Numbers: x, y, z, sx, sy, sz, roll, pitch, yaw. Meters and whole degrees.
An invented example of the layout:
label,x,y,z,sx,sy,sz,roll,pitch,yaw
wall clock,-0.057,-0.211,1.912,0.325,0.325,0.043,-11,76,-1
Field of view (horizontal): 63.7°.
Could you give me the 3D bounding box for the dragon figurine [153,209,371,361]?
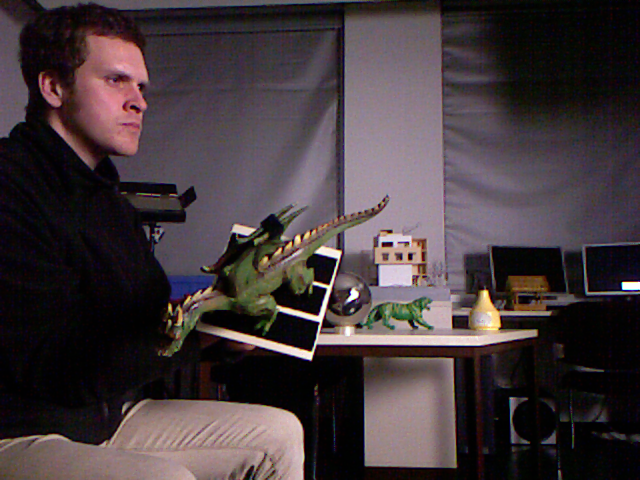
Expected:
label,x,y,z,sx,sy,sz,roll,pitch,yaw
dragon figurine,-0.076,0.033,0.777,0.415,0.124,0.240,-39,-13,-12
